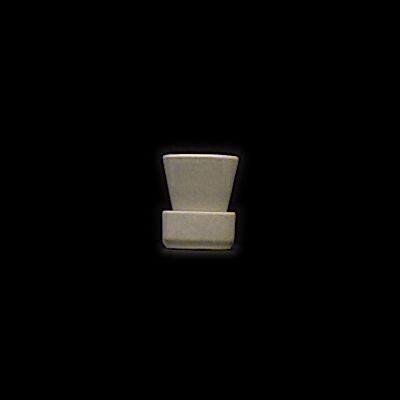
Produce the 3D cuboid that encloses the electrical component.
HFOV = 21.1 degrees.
[{"bbox_3d":[0.000,0.000,0.649,0.045,0.055,0.044,1,2,0],"label":"electrical component"}]
